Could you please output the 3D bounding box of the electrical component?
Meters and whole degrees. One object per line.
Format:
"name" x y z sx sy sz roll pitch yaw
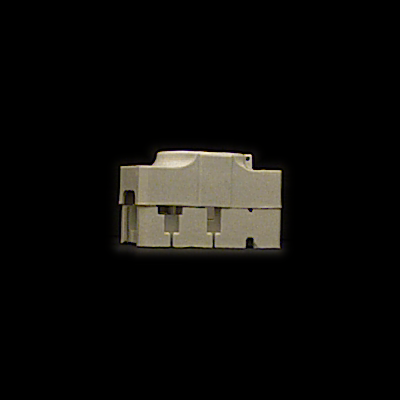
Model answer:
"electrical component" 0.000 0.000 0.656 0.090 0.056 0.050 1 1 -21
